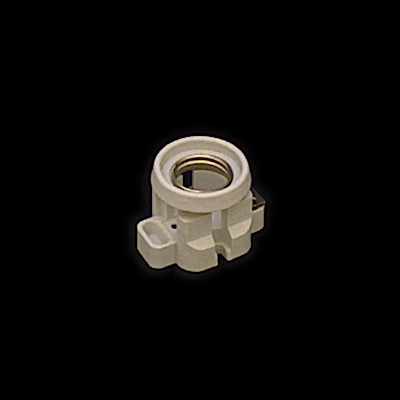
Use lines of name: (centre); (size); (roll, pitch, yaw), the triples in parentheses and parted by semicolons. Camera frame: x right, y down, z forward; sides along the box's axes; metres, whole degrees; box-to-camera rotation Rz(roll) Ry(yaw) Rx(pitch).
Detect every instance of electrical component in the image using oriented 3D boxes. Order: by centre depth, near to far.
electrical component: (0.000, 0.000, 0.633); (0.078, 0.057, 0.057); (-20, 46, -22)
